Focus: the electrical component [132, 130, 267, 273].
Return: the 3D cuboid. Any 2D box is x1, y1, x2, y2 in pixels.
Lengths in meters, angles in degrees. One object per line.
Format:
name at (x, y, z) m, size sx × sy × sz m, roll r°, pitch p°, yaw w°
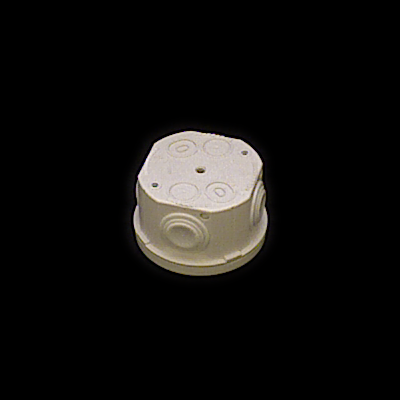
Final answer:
electrical component at (0.000, 0.000, 0.633) m, size 0.080 × 0.051 × 0.080 m, roll 0°, pitch 43°, yaw 0°
